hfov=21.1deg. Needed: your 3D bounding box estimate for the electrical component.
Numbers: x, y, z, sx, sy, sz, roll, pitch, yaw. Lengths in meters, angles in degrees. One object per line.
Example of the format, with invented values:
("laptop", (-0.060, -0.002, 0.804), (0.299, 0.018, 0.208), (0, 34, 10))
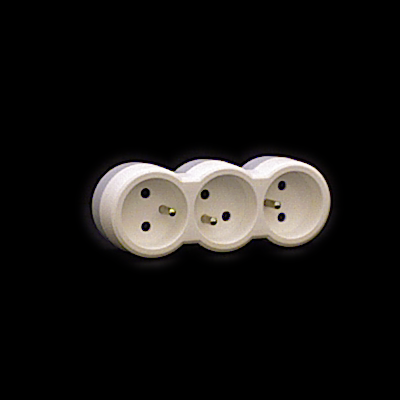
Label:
("electrical component", (0.000, 0.000, 0.644), (0.138, 0.052, 0.073), (-4, 10, -23))
